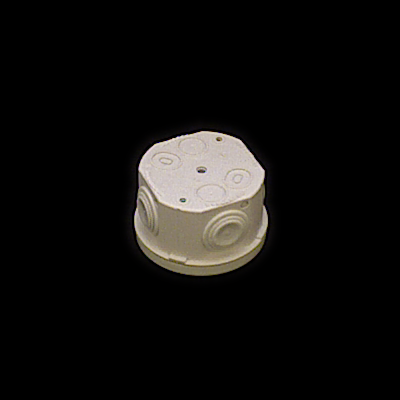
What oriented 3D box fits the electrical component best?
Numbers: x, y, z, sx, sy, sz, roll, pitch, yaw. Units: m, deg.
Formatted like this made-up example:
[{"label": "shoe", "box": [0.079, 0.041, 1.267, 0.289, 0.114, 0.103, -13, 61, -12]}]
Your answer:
[{"label": "electrical component", "box": [0.000, 0.000, 0.635, 0.080, 0.051, 0.079, 1, 42, 0]}]
